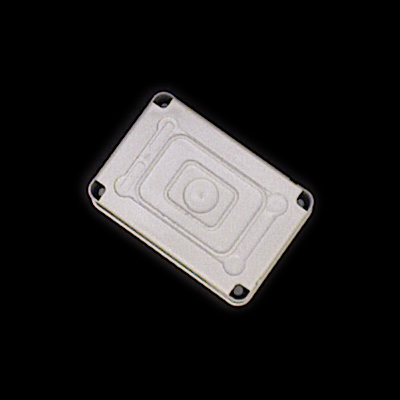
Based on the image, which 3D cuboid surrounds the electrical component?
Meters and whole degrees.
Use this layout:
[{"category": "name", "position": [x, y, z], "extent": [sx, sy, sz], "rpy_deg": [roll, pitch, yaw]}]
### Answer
[{"category": "electrical component", "position": [0.000, 0.000, 0.629], "extent": [0.113, 0.078, 0.057], "rpy_deg": [36, -5, 4]}]
